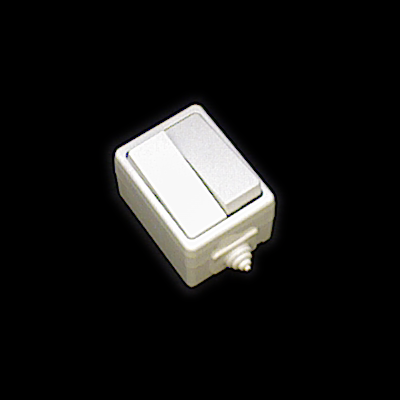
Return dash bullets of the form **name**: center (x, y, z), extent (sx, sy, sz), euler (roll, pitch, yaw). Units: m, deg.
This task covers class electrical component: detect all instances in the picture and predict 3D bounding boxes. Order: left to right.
- **electrical component**: center (0.000, 0.000, 0.625), extent (0.062, 0.096, 0.060), euler (-31, -23, -15)
